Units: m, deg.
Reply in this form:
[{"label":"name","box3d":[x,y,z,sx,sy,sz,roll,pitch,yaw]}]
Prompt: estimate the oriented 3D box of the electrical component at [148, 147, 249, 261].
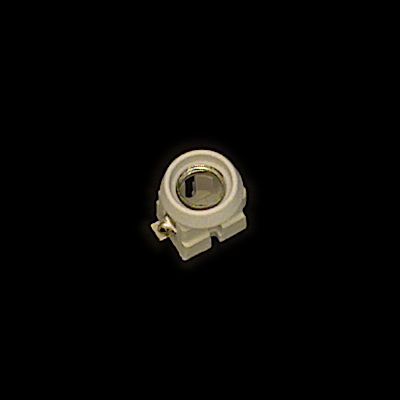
[{"label":"electrical component","box3d":[0.000,0.000,0.636,0.067,0.048,0.055,-29,-25,-14]}]
